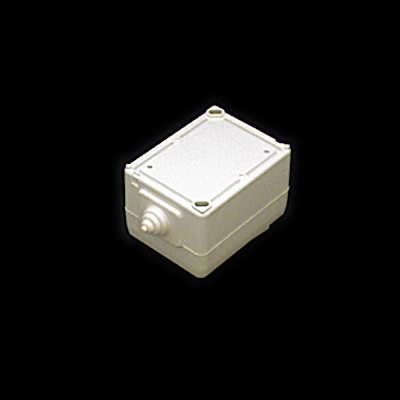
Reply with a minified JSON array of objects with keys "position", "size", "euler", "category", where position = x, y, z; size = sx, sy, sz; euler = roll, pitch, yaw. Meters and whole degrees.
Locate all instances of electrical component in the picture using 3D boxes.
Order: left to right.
[{"position":[0.000,0.000,0.625],"size":[0.061,0.061,0.096],"euler":[31,49,29],"category":"electrical component"}]
